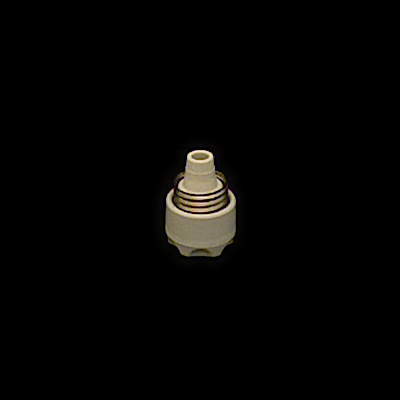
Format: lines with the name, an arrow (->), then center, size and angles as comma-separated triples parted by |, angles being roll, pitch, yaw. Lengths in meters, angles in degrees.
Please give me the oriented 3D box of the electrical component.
electrical component -> 0.000, 0.000, 0.642 | 0.043, 0.063, 0.043 | 0, 31, 0
